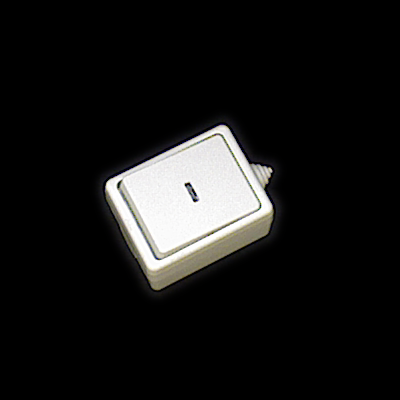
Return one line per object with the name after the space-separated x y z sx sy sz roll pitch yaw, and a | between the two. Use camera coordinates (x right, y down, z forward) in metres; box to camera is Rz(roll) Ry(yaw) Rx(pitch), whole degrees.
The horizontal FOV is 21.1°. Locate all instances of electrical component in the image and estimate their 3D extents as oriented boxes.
0.000 0.000 0.626 0.096 0.062 0.060 -27 -15 -8 | electrical component
